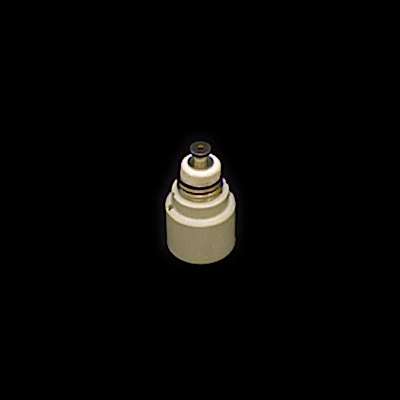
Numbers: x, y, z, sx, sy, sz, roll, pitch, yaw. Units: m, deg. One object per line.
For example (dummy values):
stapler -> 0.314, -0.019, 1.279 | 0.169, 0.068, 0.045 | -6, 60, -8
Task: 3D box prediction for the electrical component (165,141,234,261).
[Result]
electrical component -> 0.000, 0.000, 0.625 | 0.040, 0.079, 0.039 | 0, 43, 0
